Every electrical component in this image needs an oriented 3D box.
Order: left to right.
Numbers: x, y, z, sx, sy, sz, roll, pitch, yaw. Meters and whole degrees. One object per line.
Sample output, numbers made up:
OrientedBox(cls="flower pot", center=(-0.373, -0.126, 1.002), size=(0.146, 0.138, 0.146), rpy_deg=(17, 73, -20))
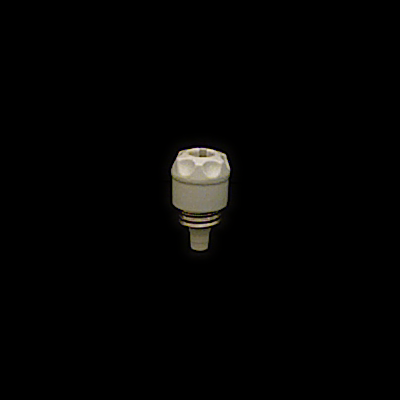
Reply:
OrientedBox(cls="electrical component", center=(0.000, 0.000, 0.648), size=(0.035, 0.062, 0.034), rpy_deg=(1, 22, 0))
